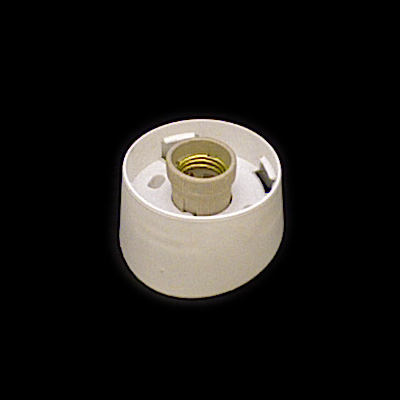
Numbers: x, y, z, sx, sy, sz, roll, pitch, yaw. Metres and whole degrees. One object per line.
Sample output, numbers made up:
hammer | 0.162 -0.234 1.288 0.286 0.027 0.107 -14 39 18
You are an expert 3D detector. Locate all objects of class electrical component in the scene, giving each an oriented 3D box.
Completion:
electrical component | 0.000 0.000 0.630 0.099 0.065 0.098 1 42 0
